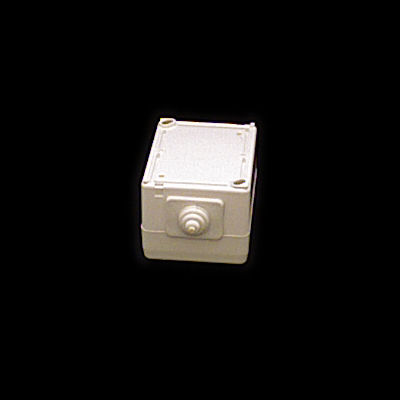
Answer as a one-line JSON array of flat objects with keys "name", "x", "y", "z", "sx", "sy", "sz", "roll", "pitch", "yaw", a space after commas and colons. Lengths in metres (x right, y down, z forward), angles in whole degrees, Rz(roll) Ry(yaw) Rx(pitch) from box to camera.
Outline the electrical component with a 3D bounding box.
[{"name": "electrical component", "x": 0.000, "y": 0.000, "z": 0.634, "sx": 0.062, "sy": 0.061, "sz": 0.095, "roll": 3, "pitch": 32, "yaw": 4}]
